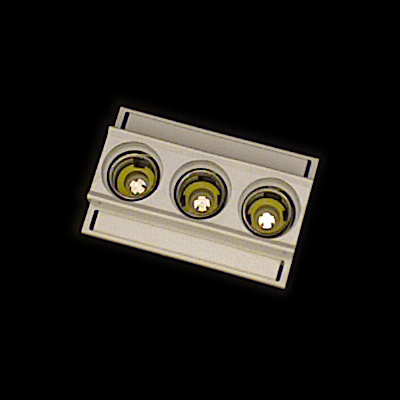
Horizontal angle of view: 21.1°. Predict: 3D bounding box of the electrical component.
[{"bbox_3d":[0.000,0.000,0.637,0.121,0.079,0.063,15,-14,5],"label":"electrical component"}]
